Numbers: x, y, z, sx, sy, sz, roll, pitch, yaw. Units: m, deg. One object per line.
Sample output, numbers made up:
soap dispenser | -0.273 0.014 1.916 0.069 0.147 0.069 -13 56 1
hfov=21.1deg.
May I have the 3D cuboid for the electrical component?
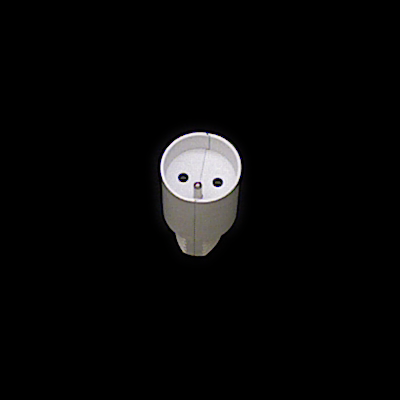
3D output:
electrical component | 0.000 0.000 0.615 0.043 0.043 0.081 0 -27 1
